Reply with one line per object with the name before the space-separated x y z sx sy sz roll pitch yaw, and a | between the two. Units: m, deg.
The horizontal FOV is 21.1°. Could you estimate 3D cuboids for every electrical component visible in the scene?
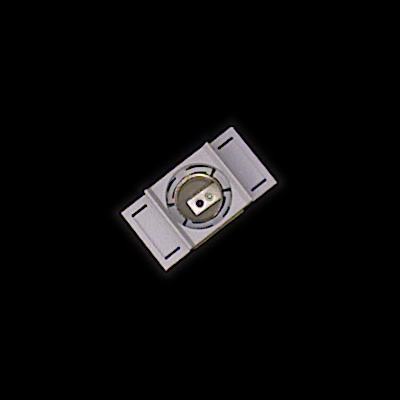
electrical component | 0.000 0.000 0.625 0.081 0.042 0.063 -38 -6 -3
